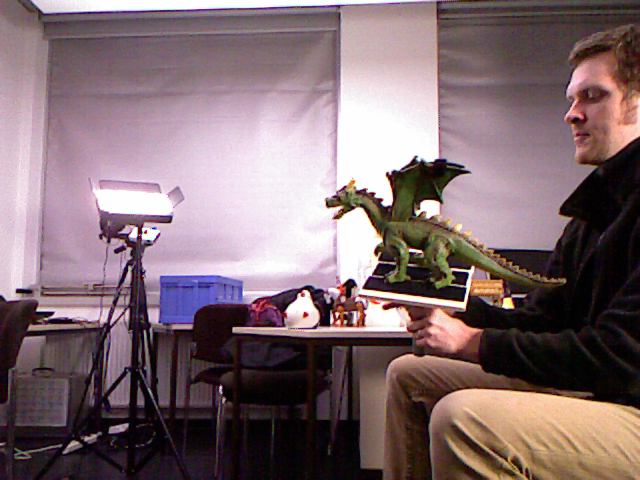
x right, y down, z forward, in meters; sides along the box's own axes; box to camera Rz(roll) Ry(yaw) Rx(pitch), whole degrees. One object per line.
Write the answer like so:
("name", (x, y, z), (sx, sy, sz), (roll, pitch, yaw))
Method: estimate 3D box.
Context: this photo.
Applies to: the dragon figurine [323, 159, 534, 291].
("dragon figurine", (0.209, -0.038, 1.002), (0.411, 0.238, 0.125), (6, 34, 16))
